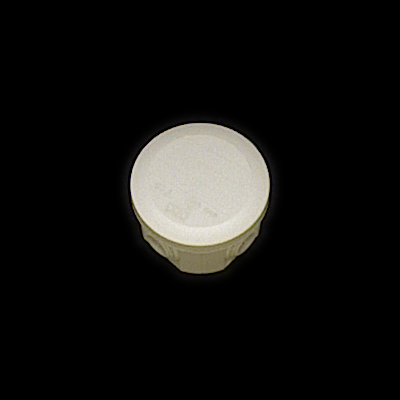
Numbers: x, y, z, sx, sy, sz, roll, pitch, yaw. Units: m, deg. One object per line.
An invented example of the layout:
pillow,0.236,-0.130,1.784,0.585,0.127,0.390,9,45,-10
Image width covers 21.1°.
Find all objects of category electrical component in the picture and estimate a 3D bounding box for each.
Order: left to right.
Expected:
electrical component,0.000,0.000,0.630,0.080,0.080,0.050,0,-27,0
